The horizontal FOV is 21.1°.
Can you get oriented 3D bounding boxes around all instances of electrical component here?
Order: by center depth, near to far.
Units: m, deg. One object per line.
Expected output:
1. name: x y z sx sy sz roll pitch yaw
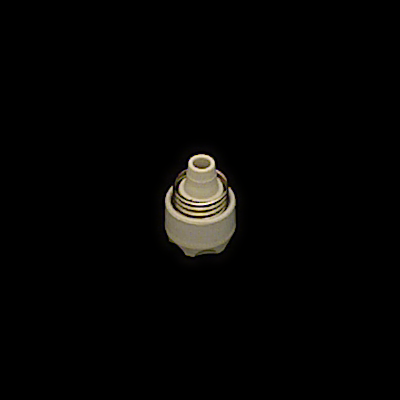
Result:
1. electrical component: 0.000 0.000 0.637 0.043 0.062 0.043 1 44 0
